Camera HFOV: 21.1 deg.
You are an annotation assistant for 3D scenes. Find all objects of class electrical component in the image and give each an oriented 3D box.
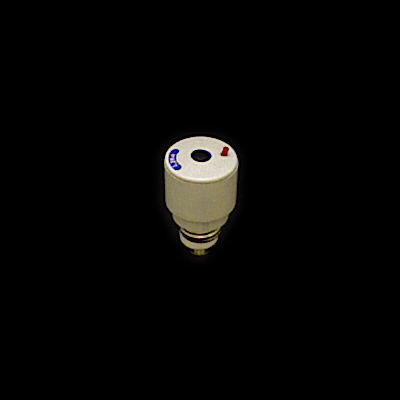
[{"bbox_3d":[0.000,0.000,0.624,0.040,0.079,0.039,1,41,-1],"label":"electrical component"}]
